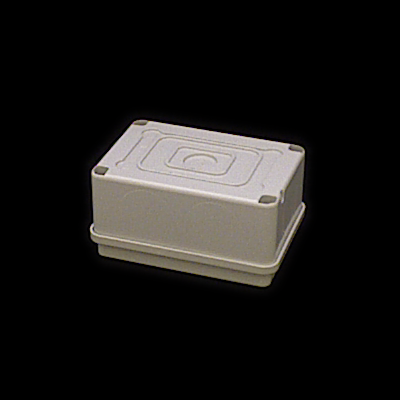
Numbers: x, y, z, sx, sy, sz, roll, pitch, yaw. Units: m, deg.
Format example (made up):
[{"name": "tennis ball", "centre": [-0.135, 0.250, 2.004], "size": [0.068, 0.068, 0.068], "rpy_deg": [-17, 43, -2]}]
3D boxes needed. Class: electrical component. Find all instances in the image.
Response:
[{"name": "electrical component", "centre": [0.000, 0.000, 0.635], "size": [0.113, 0.058, 0.077], "rpy_deg": [10, 33, 15]}]
